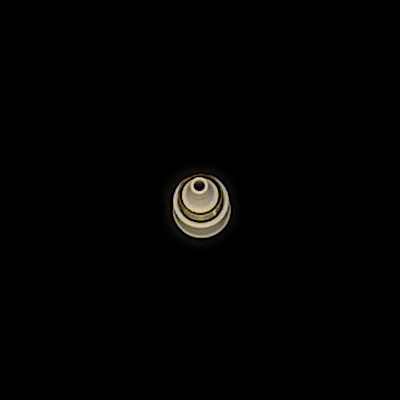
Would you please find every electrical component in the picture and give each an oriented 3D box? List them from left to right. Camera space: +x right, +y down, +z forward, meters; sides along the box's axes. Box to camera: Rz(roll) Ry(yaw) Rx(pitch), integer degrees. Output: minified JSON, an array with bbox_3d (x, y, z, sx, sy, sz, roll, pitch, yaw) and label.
[{"bbox_3d":[0.000,0.000,0.636,0.035,0.035,0.061,0,-18,2],"label":"electrical component"}]
